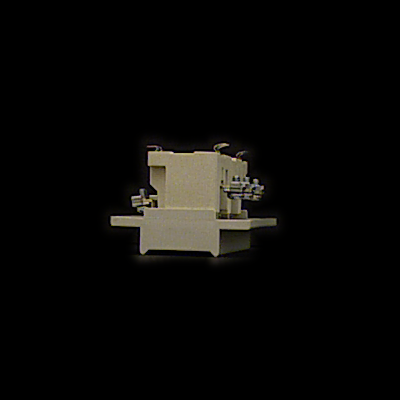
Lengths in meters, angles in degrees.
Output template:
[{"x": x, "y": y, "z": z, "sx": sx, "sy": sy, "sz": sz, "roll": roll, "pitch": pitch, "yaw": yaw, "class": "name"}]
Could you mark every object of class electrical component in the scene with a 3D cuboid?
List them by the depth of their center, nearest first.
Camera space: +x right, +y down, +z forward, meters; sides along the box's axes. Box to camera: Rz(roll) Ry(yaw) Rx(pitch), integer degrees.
[{"x": 0.000, "y": 0.000, "z": 0.656, "sx": 0.078, "sy": 0.063, "sz": 0.122, "roll": 1, "pitch": 0, "yaw": 10, "class": "electrical component"}]
